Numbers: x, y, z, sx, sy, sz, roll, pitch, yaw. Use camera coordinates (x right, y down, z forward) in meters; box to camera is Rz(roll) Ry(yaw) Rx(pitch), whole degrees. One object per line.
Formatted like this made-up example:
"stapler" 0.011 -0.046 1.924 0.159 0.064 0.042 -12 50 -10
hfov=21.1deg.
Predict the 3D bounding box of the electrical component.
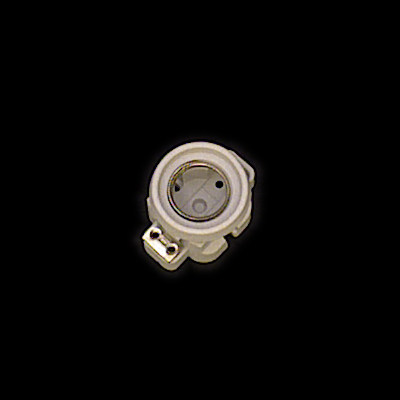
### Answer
"electrical component" 0.000 0.000 0.628 0.058 0.079 0.056 41 -13 11
